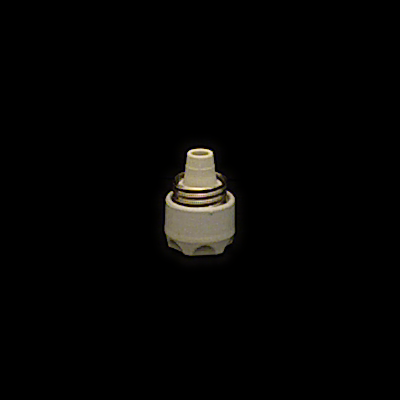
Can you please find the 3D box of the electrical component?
[{"bbox_3d":[0.000,0.000,0.645,0.043,0.063,0.043,0,23,0],"label":"electrical component"}]
